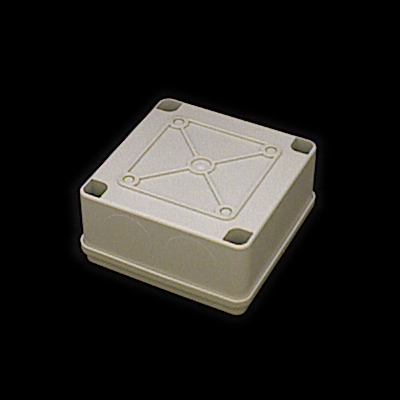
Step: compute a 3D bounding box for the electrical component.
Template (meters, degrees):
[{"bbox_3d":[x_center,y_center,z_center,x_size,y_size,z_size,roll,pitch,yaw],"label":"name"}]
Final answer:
[{"bbox_3d":[0.000,0.000,0.633,0.108,0.057,0.108,19,44,19],"label":"electrical component"}]
